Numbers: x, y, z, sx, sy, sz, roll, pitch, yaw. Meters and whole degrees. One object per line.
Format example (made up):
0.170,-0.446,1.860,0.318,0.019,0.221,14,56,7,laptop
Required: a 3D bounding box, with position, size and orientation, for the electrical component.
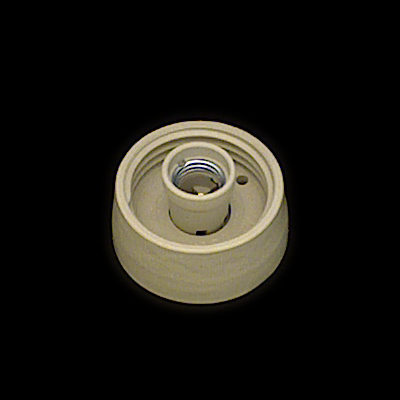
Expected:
0.000,0.000,0.635,0.108,0.107,0.060,0,-37,0,electrical component
